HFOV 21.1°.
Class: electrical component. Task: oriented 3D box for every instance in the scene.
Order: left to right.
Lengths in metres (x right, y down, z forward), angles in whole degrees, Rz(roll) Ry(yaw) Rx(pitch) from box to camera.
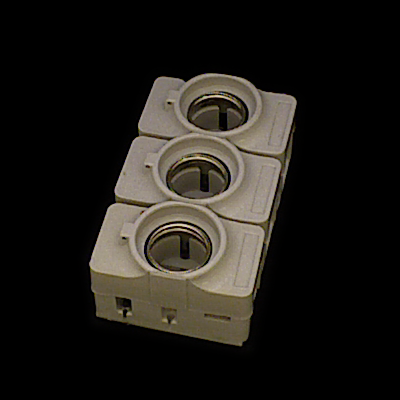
[{"bbox_3d":[0.000,0.000,0.633,0.089,0.148,0.062,10,-38,8],"label":"electrical component"}]
